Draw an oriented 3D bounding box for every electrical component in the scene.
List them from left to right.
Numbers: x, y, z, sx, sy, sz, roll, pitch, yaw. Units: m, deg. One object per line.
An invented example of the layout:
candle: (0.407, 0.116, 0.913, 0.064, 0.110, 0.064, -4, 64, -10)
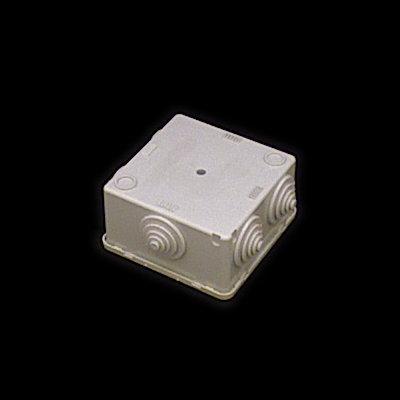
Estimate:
electrical component: (0.000, 0.000, 0.633, 0.099, 0.049, 0.099, 22, 47, 22)
